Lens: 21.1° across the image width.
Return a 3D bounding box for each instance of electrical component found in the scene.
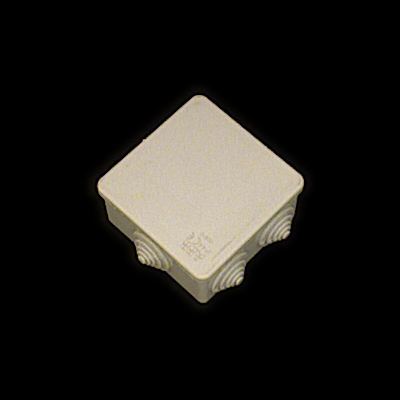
[{"bbox_3d":[0.000,0.000,0.639,0.099,0.100,0.048,41,-20,18],"label":"electrical component"}]
